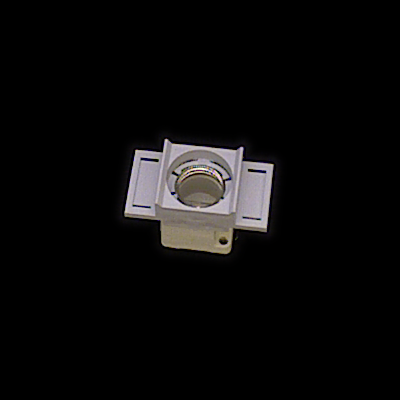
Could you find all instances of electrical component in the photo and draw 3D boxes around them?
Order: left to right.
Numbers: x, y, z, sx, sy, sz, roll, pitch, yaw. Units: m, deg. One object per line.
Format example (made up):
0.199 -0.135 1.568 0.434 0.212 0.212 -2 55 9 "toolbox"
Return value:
0.000 0.000 0.624 0.081 0.042 0.063 7 -28 4 "electrical component"
